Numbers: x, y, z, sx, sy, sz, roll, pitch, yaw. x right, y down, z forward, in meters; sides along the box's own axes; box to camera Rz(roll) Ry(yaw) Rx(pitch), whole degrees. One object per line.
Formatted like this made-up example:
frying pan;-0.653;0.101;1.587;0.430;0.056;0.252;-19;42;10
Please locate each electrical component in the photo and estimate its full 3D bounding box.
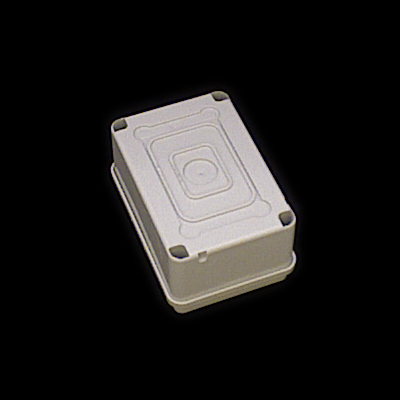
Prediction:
electrical component;0.000;0.000;0.629;0.078;0.112;0.057;-17;-36;-13
